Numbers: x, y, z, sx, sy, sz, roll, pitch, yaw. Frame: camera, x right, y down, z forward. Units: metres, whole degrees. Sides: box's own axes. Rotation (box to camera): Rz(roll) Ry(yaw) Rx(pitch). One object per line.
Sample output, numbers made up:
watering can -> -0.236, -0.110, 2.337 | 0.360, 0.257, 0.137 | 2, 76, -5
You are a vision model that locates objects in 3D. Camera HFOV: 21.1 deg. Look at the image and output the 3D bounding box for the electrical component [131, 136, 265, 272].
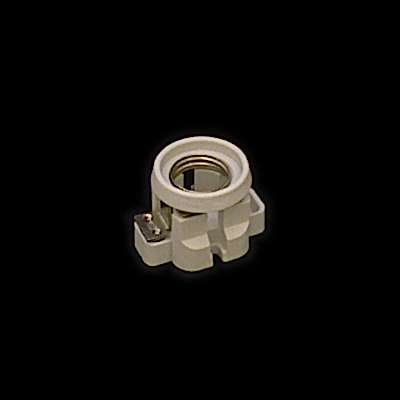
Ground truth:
electrical component -> 0.000, 0.000, 0.630 | 0.079, 0.057, 0.057 | -17, 45, -18
